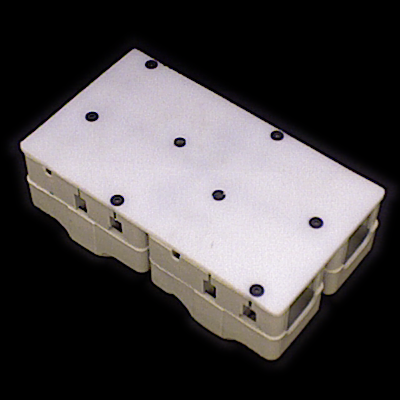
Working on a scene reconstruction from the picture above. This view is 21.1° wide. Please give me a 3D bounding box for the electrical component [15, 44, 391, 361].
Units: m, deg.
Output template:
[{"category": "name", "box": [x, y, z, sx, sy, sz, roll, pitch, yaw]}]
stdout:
[{"category": "electrical component", "box": [0.000, 0.000, 0.627, 0.185, 0.105, 0.060, 32, -32, 21]}]
